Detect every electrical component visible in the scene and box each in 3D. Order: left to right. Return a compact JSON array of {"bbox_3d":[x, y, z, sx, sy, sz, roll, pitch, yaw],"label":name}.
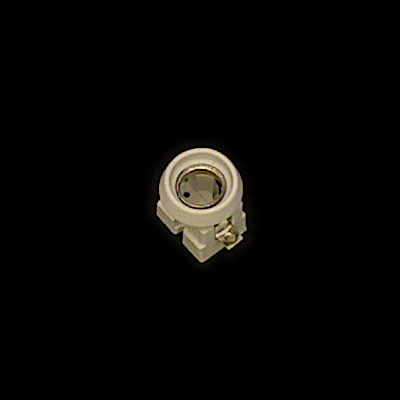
[{"bbox_3d":[0.000,0.000,0.637,0.048,0.066,0.055,-39,-20,-15],"label":"electrical component"}]
